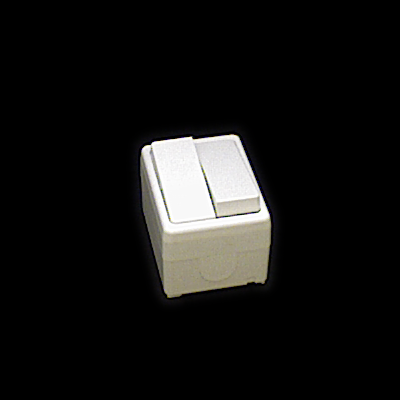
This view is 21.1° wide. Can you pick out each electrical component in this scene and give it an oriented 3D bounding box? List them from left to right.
[{"bbox_3d":[0.000,0.000,0.633,0.062,0.061,0.095,-8,43,-9],"label":"electrical component"}]
